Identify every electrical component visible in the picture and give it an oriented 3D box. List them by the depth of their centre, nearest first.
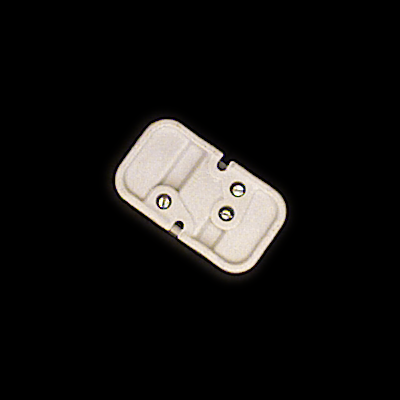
[{"bbox_3d":[0.000,0.000,0.637,0.095,0.054,0.059,35,-4,4],"label":"electrical component"}]
